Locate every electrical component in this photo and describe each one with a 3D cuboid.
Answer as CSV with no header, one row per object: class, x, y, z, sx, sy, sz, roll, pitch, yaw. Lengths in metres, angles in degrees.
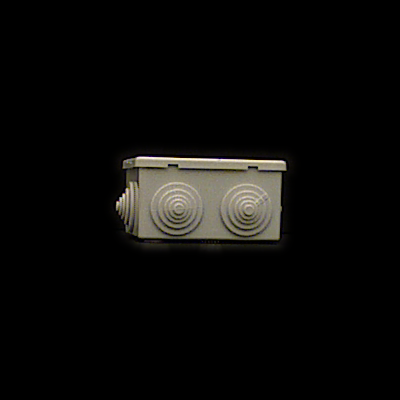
electrical component,0.000,0.000,0.658,0.100,0.048,0.099,1,1,-10
